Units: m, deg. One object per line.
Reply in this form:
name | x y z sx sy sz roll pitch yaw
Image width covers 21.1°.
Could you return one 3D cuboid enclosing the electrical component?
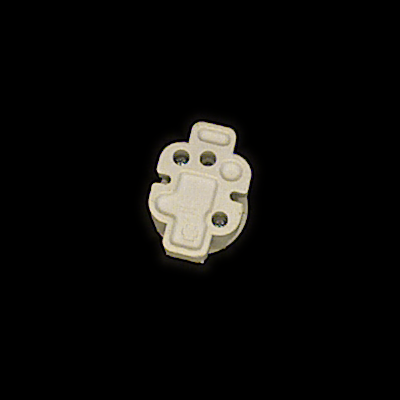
electrical component | 0.000 0.000 0.635 0.058 0.079 0.056 13 -14 3
